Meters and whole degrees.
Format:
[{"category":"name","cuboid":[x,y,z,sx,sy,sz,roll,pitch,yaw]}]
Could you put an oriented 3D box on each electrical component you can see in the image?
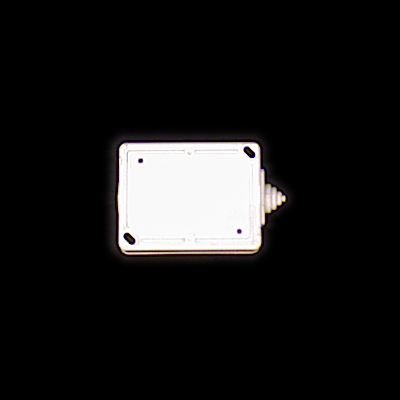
[{"category":"electrical component","cuboid":[0.000,0.000,0.629,0.096,0.062,0.061,0,-7,0]}]
